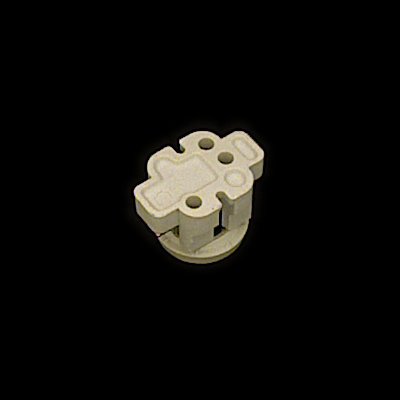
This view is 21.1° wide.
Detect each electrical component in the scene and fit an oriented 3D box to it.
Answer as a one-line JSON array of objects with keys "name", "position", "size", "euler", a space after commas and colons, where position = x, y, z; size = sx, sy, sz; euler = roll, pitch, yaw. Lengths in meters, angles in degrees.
[{"name": "electrical component", "position": [0.000, 0.000, 0.635], "size": [0.079, 0.057, 0.057], "euler": [-31, -30, -20]}]
